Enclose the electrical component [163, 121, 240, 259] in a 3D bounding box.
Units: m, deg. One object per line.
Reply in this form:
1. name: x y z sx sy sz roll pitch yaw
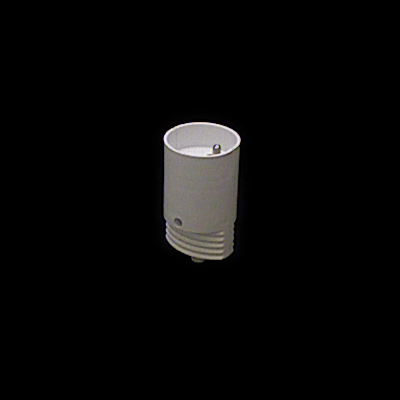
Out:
1. electrical component: 0.000 0.000 0.629 0.043 0.082 0.042 1 32 -1
